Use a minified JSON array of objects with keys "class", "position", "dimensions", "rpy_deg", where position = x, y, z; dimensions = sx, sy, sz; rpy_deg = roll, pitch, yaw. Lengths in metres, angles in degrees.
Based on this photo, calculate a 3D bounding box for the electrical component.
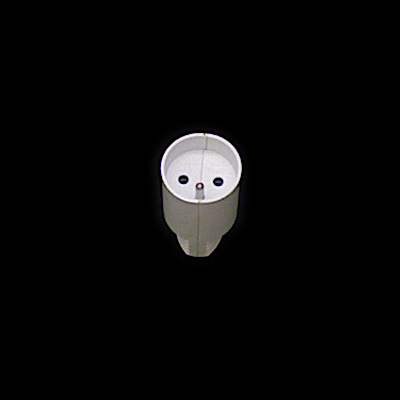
[{"class":"electrical component","position":[0.000,0.000,0.615],"dimensions":[0.043,0.043,0.081],"rpy_deg":[0,-27,1]}]
